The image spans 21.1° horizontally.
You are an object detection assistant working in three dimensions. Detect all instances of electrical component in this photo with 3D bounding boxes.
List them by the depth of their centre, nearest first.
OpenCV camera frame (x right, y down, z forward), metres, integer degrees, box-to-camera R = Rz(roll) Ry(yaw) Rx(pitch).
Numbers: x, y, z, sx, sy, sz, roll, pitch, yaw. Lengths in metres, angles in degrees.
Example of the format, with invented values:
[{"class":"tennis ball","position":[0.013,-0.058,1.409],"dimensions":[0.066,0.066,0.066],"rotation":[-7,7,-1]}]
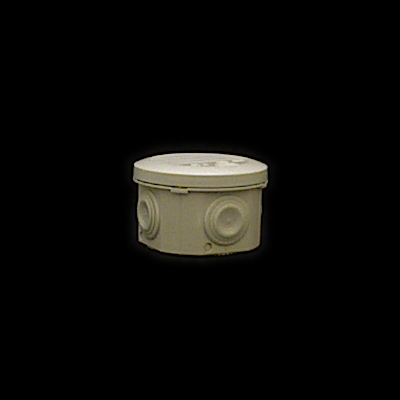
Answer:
[{"class":"electrical component","position":[0.000,0.000,0.643],"dimensions":[0.080,0.051,0.079],"rotation":[1,10,0]}]
